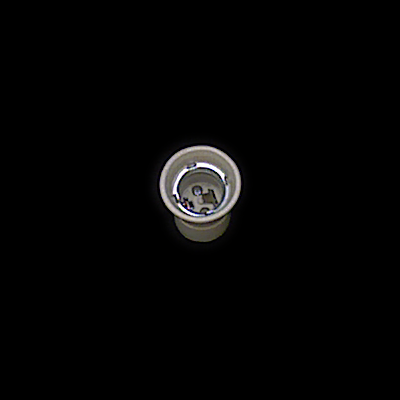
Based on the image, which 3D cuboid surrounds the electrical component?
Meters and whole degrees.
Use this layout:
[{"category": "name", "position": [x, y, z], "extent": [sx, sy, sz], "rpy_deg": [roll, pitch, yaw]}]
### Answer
[{"category": "electrical component", "position": [0.000, 0.000, 0.624], "extent": [0.044, 0.044, 0.065], "rpy_deg": [0, -18, 1]}]
